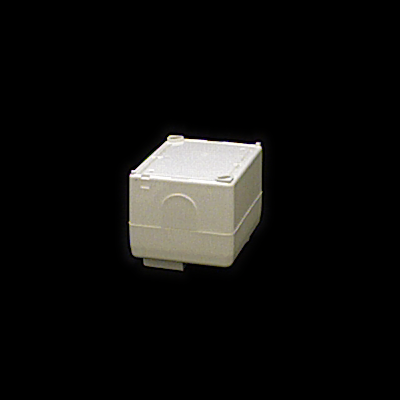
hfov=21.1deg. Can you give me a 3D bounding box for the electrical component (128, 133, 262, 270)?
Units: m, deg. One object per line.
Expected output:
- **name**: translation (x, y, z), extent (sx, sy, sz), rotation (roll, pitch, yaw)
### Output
- **electrical component**: translation (0.000, 0.000, 0.646), extent (0.061, 0.062, 0.095), rotation (6, 21, 14)
